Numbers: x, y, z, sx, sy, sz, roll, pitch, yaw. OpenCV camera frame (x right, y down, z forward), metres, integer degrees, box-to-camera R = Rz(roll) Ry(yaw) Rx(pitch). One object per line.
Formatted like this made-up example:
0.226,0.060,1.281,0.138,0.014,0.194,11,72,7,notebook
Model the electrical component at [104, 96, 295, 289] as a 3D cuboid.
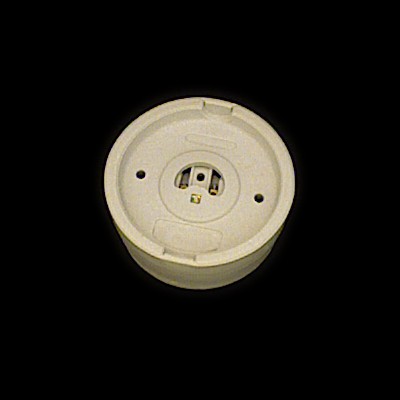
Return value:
0.000,0.000,0.632,0.108,0.108,0.060,0,-27,-1,electrical component
